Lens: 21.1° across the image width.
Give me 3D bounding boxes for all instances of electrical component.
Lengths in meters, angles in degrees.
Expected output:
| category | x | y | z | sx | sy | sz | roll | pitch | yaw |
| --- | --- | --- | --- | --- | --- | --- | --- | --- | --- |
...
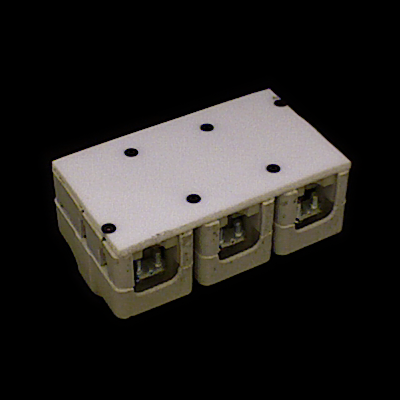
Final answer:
| category | x | y | z | sx | sy | sz | roll | pitch | yaw |
| --- | --- | --- | --- | --- | --- | --- | --- | --- | --- |
| electrical component | 0.000 | 0.000 | 0.634 | 0.150 | 0.063 | 0.088 | -20 | 45 | -22 |
